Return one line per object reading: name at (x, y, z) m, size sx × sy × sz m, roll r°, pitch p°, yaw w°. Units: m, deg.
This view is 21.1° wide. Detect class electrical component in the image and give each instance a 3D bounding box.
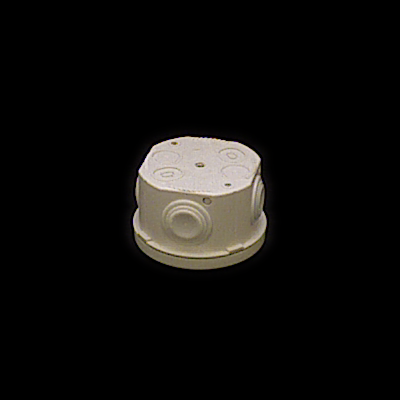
electrical component at (0.000, 0.000, 0.638) m, size 0.080 × 0.051 × 0.079 m, roll 1°, pitch 31°, yaw 0°
